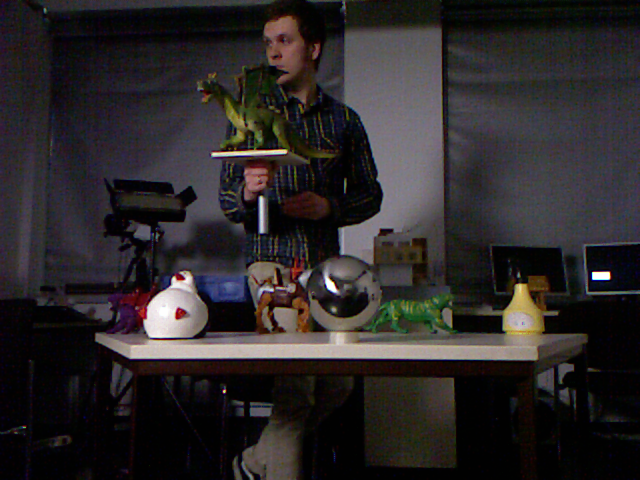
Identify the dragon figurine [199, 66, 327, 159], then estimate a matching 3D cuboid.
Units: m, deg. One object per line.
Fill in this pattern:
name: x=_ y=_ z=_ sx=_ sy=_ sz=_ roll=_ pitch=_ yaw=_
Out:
dragon figurine: x=-0.145 y=-0.353 z=1.405 sx=0.411 sy=0.242 sz=0.122 roll=0 pitch=4 yaw=-38
